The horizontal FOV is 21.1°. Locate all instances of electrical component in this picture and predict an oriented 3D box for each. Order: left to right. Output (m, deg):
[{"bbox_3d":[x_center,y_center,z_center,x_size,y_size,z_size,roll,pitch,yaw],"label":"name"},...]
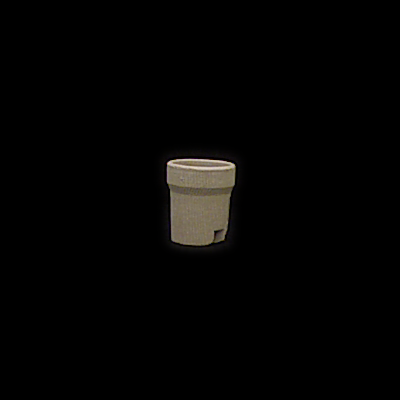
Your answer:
[{"bbox_3d":[0.000,0.000,0.644,0.040,0.046,0.040,1,11,0],"label":"electrical component"}]
